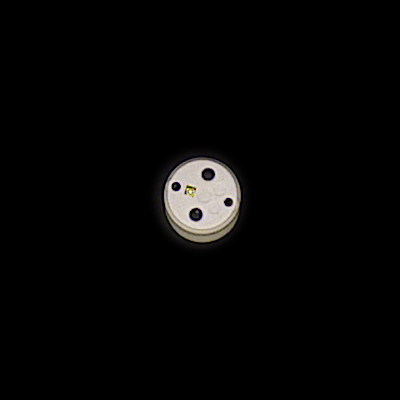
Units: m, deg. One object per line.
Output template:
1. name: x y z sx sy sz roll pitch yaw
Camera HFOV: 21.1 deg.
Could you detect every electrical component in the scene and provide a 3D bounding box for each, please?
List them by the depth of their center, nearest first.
1. electrical component: 0.000 0.000 0.629 0.045 0.045 0.055 0 -6 0
